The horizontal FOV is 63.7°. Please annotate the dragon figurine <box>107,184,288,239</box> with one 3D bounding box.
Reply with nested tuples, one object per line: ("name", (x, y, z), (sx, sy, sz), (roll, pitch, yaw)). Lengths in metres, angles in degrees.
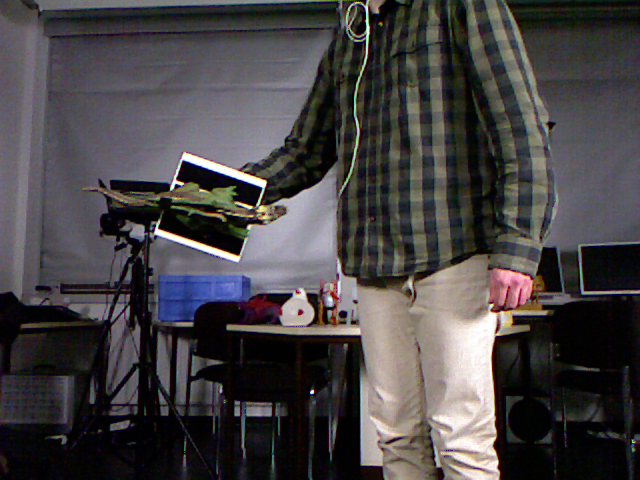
("dragon figurine", (-0.274, -0.073, 1.079), (0.411, 0.123, 0.242), (4, -2, -3))
